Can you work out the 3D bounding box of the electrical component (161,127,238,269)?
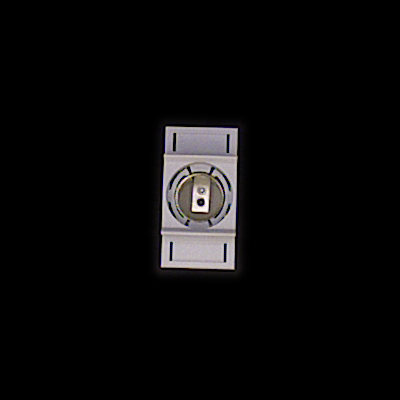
[{"bbox_3d":[0.000,0.000,0.625,0.042,0.081,0.063,2,-6,1],"label":"electrical component"}]
